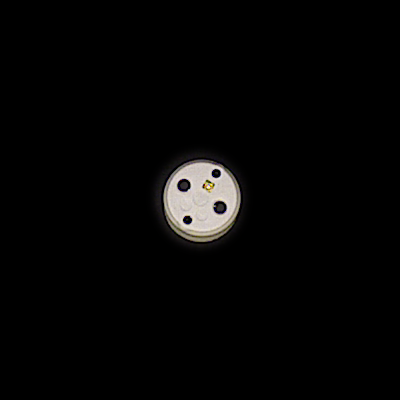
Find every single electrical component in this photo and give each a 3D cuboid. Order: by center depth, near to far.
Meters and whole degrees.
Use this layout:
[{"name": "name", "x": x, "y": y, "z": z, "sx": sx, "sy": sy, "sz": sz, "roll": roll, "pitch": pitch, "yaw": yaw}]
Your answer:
[{"name": "electrical component", "x": 0.000, "y": 0.000, "z": 0.629, "sx": 0.045, "sy": 0.045, "sz": 0.055, "roll": 0, "pitch": -6, "yaw": 0}]
